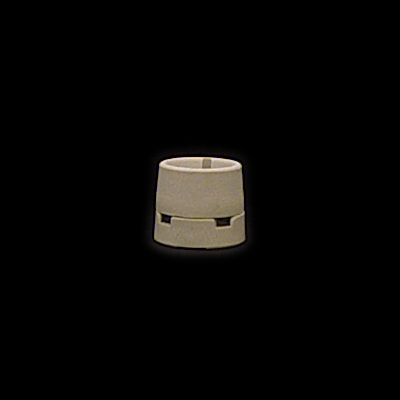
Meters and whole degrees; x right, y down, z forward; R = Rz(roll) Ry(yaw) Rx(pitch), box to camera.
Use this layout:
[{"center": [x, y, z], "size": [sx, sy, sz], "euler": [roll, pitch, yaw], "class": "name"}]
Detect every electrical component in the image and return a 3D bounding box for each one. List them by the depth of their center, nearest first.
[{"center": [0.000, 0.000, 0.644], "size": [0.055, 0.047, 0.055], "euler": [1, 12, 0], "class": "electrical component"}]
